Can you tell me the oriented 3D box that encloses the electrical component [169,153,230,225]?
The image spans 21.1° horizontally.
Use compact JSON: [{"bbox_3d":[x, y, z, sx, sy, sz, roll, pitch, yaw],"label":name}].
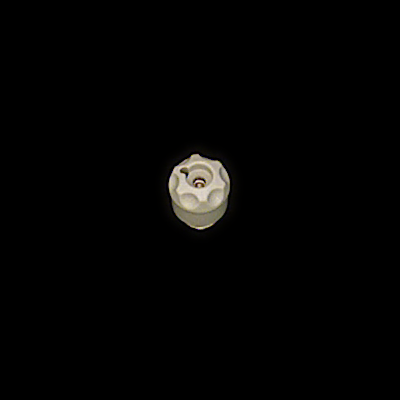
[{"bbox_3d":[0.000,0.000,0.634,0.035,0.035,0.061,0,-27,0],"label":"electrical component"}]
